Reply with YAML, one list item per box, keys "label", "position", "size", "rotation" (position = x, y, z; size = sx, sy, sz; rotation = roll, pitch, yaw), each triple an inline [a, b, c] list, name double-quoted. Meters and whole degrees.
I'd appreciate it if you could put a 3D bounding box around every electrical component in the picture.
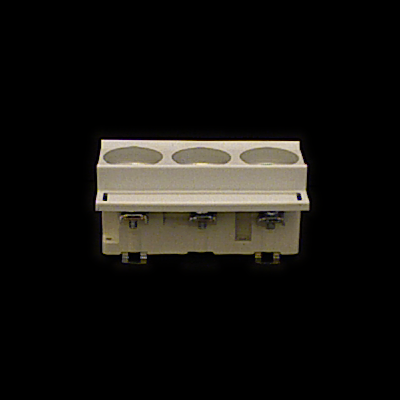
- label: "electrical component"
  position: [0.000, 0.000, 0.650]
  size: [0.121, 0.064, 0.077]
  rotation: [0, 23, -2]
